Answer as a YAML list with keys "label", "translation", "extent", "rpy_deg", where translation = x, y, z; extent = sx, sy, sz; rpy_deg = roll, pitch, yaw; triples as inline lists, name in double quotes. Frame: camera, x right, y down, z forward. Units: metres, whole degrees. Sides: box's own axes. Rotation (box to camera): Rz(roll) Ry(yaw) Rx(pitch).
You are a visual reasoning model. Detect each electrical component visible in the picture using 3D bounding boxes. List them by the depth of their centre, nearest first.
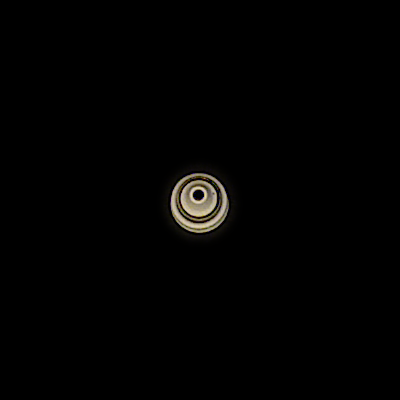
- label: "electrical component"
  translation: [0.000, 0.000, 0.637]
  extent: [0.035, 0.035, 0.061]
  rpy_deg: [0, -7, 0]
